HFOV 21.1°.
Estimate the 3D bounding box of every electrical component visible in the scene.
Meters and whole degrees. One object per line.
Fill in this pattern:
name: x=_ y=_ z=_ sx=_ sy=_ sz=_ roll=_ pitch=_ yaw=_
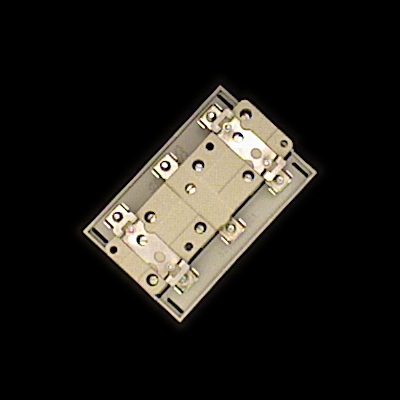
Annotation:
electrical component: x=0.000 y=0.000 z=0.634 sx=0.079 sy=0.122 sz=0.063 roll=42 pitch=-4 yaw=4
